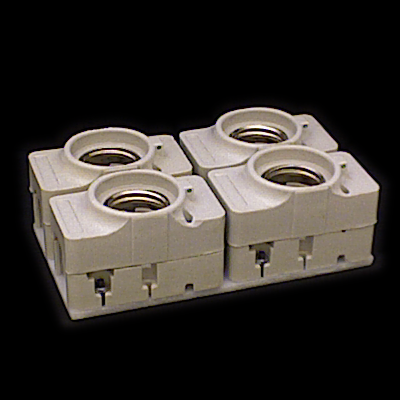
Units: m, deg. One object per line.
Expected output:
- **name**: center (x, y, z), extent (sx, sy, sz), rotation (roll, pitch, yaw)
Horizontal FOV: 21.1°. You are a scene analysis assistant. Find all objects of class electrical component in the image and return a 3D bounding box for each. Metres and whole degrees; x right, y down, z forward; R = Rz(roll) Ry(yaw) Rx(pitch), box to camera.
- **electrical component**: center (0.000, 0.000, 0.635), extent (0.186, 0.061, 0.104), rotation (-9, 33, -17)
